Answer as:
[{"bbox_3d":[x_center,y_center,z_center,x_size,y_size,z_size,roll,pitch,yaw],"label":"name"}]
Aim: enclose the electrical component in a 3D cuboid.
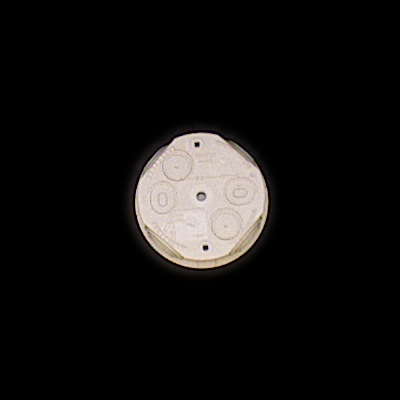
[{"bbox_3d":[0.000,0.000,0.633,0.080,0.080,0.050,0,-6,0],"label":"electrical component"}]
